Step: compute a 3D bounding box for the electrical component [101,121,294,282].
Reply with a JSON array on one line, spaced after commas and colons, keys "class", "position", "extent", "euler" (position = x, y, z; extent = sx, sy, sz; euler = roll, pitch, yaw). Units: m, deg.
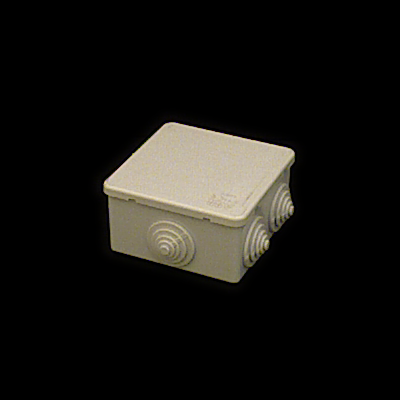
[{"class": "electrical component", "position": [0.000, 0.000, 0.644], "extent": [0.099, 0.049, 0.099], "euler": [14, 35, 20]}]
